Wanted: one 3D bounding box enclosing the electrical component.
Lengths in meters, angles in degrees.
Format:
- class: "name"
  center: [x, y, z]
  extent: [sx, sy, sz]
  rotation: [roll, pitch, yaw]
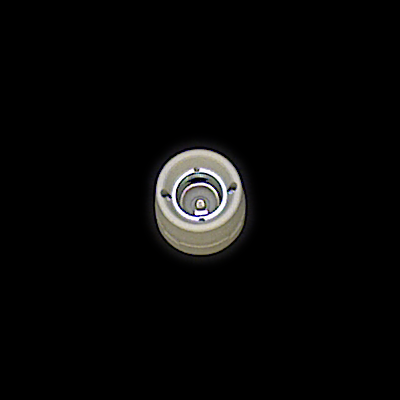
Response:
- class: "electrical component"
  center: [0.000, 0.000, 0.633]
  extent: [0.055, 0.056, 0.047]
  rotation: [0, -17, 1]
